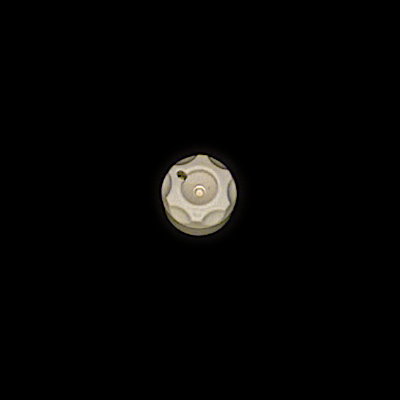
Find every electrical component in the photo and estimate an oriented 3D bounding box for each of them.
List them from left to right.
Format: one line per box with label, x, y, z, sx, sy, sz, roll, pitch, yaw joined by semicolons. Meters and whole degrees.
electrical component;0.000;0.000;0.634;0.043;0.043;0.061;0;-16;-1
